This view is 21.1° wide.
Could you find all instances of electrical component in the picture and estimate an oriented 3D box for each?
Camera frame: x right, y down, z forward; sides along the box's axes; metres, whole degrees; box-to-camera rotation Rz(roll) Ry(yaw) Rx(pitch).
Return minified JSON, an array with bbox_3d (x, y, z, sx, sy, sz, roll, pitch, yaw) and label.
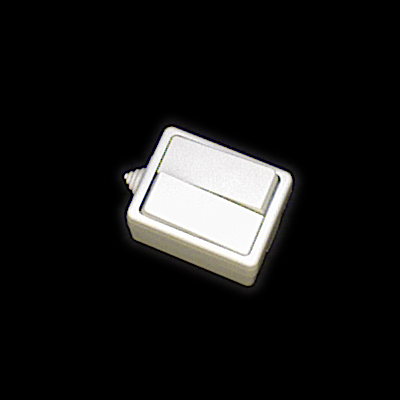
[{"bbox_3d":[0.000,0.000,0.626,0.096,0.062,0.060,22,-16,6],"label":"electrical component"}]
